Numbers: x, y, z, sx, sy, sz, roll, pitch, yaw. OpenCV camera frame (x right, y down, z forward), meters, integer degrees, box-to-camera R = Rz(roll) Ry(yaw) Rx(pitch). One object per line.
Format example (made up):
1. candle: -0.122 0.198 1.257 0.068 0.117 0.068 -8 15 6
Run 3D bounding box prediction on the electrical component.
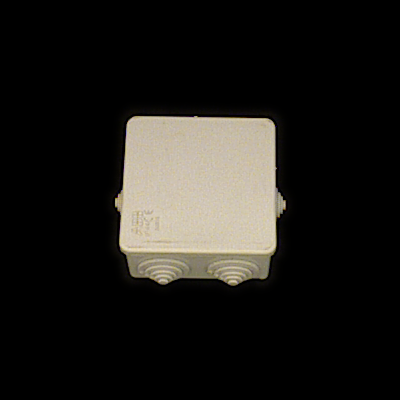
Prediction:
1. electrical component: 0.000 0.000 0.639 0.100 0.100 0.048 1 -26 0
